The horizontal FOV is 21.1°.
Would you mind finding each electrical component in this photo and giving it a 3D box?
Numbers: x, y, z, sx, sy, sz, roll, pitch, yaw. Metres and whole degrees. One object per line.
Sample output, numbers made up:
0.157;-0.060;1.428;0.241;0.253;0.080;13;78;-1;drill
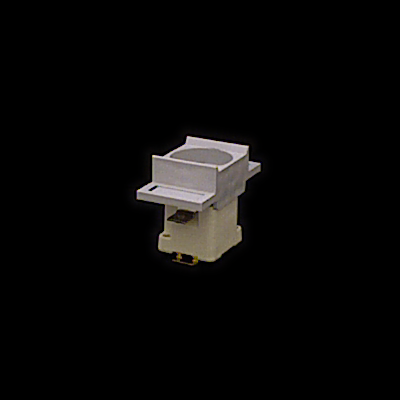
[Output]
0.000;0.000;0.640;0.042;0.064;0.080;11;23;25;electrical component
